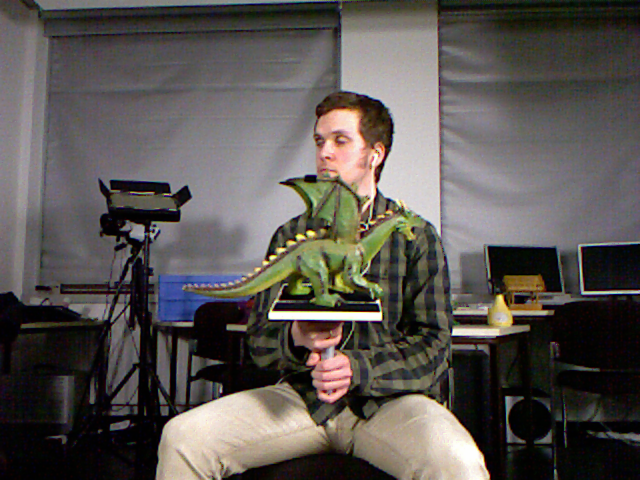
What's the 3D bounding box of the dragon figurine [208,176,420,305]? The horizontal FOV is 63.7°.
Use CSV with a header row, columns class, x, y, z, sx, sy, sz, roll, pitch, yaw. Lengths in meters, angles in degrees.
class,x,y,z,sx,sy,sz,roll,pitch,yaw
dragon figurine,-0.004,-0.002,0.967,0.411,0.240,0.123,-2,14,-11
